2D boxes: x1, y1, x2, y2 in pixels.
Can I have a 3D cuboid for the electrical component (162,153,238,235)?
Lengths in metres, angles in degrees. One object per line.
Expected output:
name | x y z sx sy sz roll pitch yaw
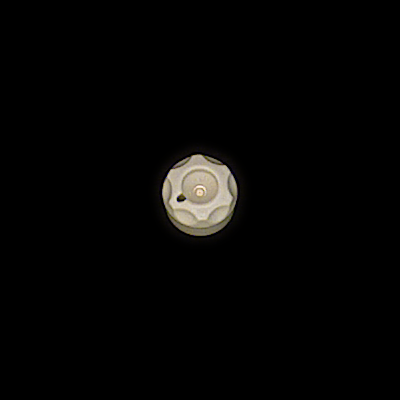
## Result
electrical component | 0.000 0.000 0.634 0.043 0.043 0.061 0 -17 0
